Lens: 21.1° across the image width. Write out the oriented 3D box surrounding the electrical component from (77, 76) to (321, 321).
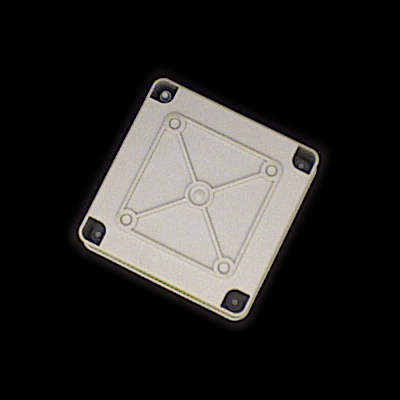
[{"bbox_3d":[0.000,0.000,0.629,0.109,0.109,0.056,26,-7,3],"label":"electrical component"}]
